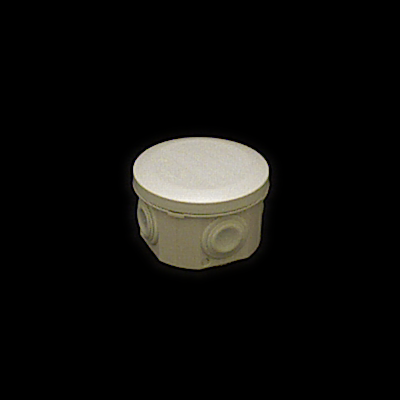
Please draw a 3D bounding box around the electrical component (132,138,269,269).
[{"bbox_3d":[0.000,0.000,0.638,0.080,0.051,0.079,1,31,0],"label":"electrical component"}]
